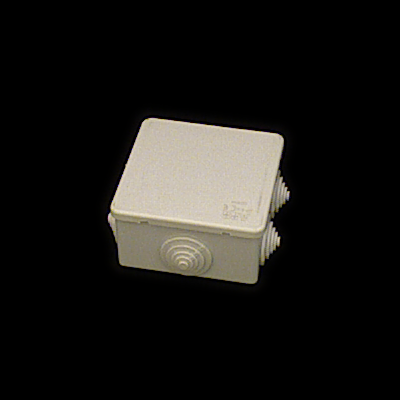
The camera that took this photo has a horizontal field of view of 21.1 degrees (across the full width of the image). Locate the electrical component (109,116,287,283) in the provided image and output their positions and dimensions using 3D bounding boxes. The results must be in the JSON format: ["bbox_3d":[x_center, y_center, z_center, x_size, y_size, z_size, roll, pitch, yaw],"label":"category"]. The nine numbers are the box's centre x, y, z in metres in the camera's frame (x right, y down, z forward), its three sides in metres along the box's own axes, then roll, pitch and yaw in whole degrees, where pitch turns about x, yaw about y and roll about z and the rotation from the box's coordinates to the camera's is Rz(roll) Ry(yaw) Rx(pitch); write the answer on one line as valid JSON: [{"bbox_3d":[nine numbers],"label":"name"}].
[{"bbox_3d":[0.000,0.000,0.642,0.099,0.049,0.099,8,43,7],"label":"electrical component"}]
